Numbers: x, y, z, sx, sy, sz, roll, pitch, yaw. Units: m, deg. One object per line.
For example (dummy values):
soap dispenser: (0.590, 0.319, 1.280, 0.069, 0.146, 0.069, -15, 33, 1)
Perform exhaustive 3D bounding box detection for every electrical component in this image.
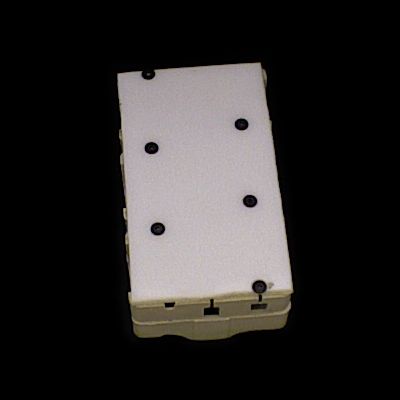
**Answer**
electrical component: (0.000, 0.000, 0.632, 0.090, 0.149, 0.062, -4, -27, -2)
